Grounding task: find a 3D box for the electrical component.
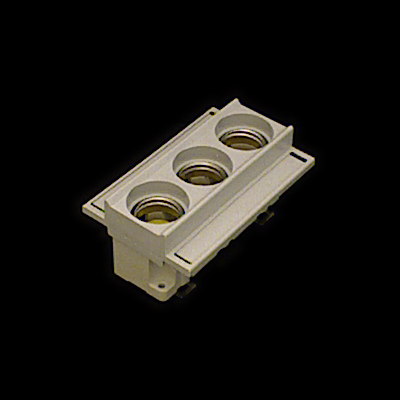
[{"bbox_3d":[0.000,0.000,0.643,0.078,0.064,0.121,30,50,26],"label":"electrical component"}]
